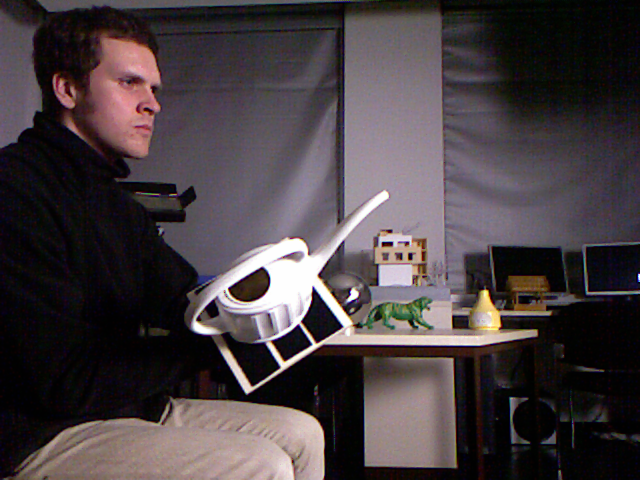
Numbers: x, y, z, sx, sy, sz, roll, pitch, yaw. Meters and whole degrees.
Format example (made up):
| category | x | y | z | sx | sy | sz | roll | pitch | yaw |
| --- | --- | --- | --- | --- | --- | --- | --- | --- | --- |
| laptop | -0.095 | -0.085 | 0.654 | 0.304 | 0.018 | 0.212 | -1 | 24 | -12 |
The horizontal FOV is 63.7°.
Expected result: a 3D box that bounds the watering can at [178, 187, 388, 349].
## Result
| category | x | y | z | sx | sy | sz | roll | pitch | yaw |
| --- | --- | --- | --- | --- | --- | --- | --- | --- | --- |
| watering can | -0.043 | 0.056 | 0.786 | 0.351 | 0.106 | 0.220 | -30 | -25 | -11 |
